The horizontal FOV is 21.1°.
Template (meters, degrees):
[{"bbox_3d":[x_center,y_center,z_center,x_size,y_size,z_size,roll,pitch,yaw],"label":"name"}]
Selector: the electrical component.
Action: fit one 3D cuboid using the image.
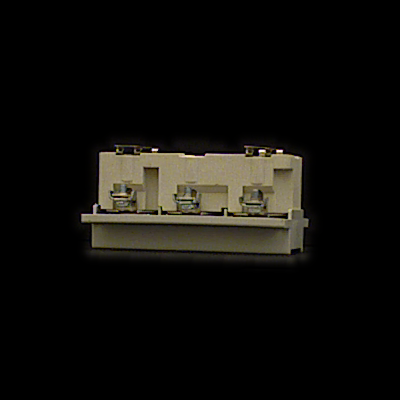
[{"bbox_3d":[0.000,0.000,0.654,0.121,0.063,0.079,1,1,15],"label":"electrical component"}]
